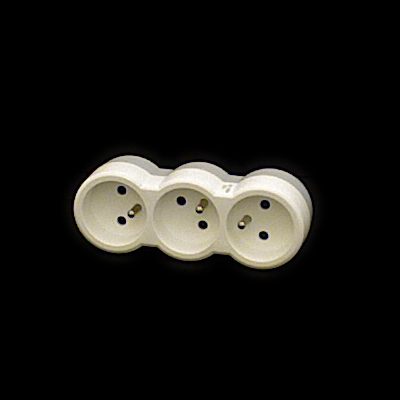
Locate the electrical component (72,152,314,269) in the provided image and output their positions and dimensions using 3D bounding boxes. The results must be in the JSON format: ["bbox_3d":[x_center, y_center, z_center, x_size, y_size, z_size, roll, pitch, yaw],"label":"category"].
[{"bbox_3d":[0.000,0.000,0.650,0.137,0.053,0.073,6,21,11],"label":"electrical component"}]
